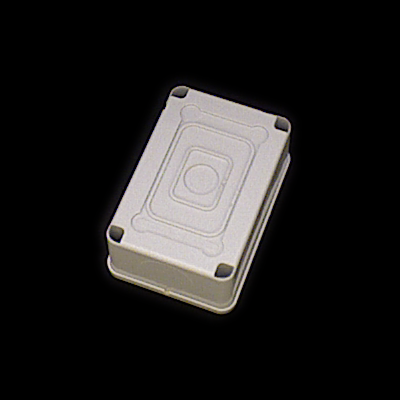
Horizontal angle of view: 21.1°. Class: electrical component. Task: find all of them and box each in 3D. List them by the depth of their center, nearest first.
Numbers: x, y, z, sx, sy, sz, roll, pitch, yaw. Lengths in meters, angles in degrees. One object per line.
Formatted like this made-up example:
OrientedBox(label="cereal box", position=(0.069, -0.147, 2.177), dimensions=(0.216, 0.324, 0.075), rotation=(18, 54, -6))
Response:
OrientedBox(label="electrical component", position=(0.000, 0.000, 0.628), dimensions=(0.078, 0.113, 0.057), rotation=(19, -25, 9))
